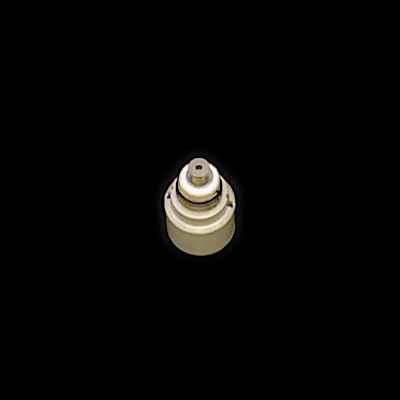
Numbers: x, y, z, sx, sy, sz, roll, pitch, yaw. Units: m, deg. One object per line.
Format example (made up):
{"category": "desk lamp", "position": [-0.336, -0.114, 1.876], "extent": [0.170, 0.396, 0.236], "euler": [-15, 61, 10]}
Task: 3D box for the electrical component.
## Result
{"category": "electrical component", "position": [0.000, 0.000, 0.618], "extent": [0.040, 0.040, 0.078], "euler": [0, -27, 1]}
